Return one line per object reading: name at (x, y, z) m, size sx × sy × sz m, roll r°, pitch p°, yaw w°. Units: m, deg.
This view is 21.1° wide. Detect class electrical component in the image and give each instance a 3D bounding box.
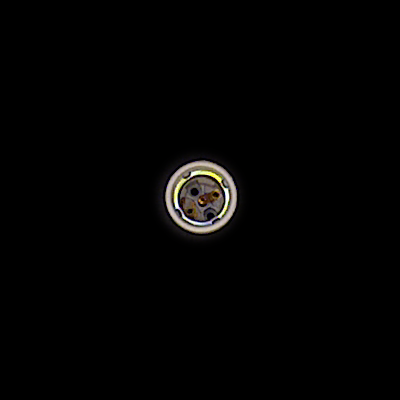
electrical component at (0.000, 0.000, 0.627) m, size 0.040 × 0.040 × 0.046 m, roll 0°, pitch -6°, yaw 0°
